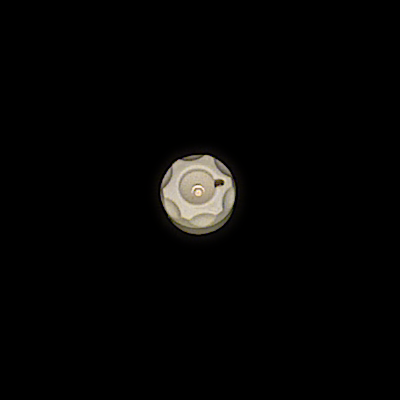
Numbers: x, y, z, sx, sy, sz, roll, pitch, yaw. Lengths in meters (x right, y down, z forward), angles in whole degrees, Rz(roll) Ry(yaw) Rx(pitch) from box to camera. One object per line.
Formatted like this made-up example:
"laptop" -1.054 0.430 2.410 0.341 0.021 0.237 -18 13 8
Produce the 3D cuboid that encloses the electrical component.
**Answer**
"electrical component" 0.000 0.000 0.634 0.043 0.043 0.061 0 -15 1
